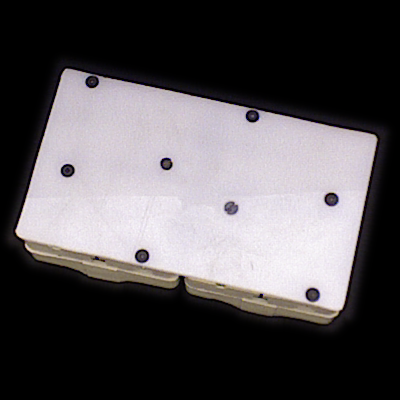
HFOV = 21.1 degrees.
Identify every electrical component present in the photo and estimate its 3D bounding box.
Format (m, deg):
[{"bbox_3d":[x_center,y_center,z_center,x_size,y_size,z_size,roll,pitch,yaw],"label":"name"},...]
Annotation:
[{"bbox_3d":[0.000,0.000,0.625,0.186,0.106,0.060,13,-16,3],"label":"electrical component"}]
